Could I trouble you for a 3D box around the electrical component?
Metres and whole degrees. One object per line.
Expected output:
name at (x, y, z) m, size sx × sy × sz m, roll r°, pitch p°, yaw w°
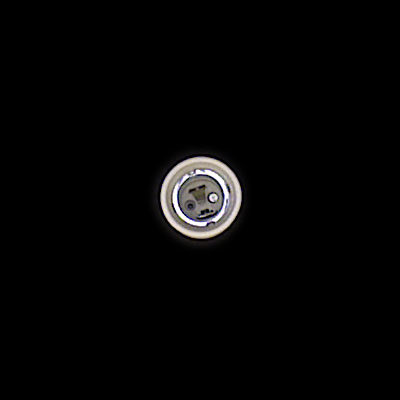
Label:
electrical component at (0.000, 0.000, 0.629) m, size 0.045 × 0.045 × 0.055 m, roll 0°, pitch -5°, yaw 1°
